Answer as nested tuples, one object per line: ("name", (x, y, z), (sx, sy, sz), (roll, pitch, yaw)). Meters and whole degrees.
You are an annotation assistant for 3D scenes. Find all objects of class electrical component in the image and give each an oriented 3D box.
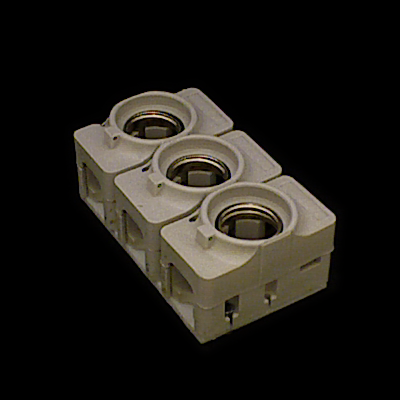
("electrical component", (0.000, 0.000, 0.635), (0.089, 0.063, 0.148), (-23, 47, -24))
